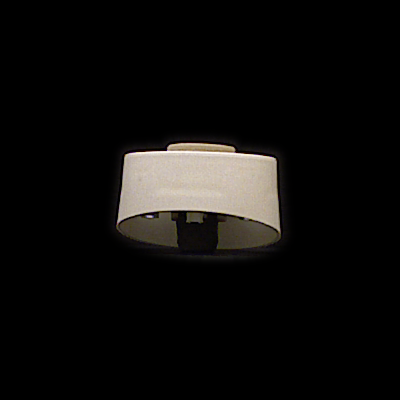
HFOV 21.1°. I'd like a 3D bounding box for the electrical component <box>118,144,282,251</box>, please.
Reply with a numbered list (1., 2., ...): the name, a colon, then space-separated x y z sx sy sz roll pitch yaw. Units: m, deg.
1. electrical component: 0.000 0.000 0.649 0.099 0.064 0.099 1 -1 0
